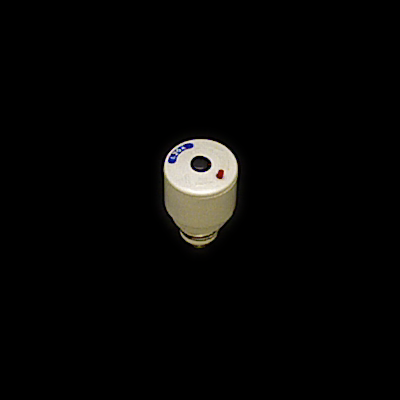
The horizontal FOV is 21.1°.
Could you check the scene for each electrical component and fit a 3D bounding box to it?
[{"bbox_3d":[0.000,0.000,0.619,0.040,0.040,0.078,0,-38,-1],"label":"electrical component"}]
